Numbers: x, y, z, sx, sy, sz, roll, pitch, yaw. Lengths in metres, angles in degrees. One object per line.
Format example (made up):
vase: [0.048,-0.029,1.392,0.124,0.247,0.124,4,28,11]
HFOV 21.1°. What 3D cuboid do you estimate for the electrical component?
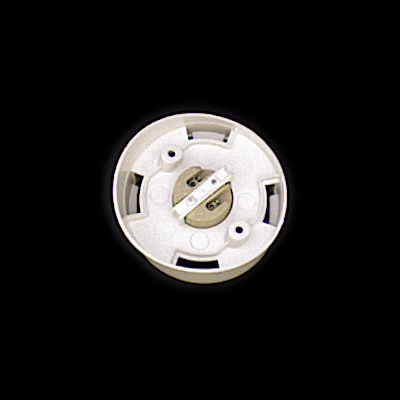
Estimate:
electrical component: [0.000,0.000,0.623,0.099,0.099,0.064,0,-16,1]
